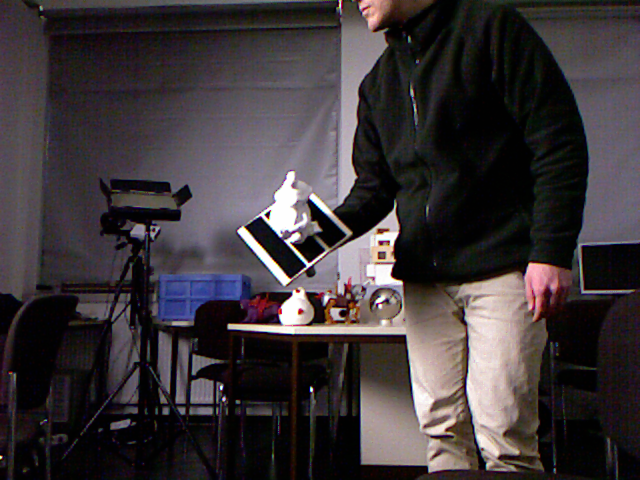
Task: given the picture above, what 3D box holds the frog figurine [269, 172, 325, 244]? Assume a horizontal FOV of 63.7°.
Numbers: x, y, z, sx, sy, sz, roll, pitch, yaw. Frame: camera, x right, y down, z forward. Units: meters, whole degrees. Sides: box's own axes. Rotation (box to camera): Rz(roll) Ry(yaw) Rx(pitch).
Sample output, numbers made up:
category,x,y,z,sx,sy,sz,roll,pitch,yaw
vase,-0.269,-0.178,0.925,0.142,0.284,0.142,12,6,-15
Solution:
category,x,y,z,sx,sy,sz,roll,pitch,yaw
frog figurine,-0.064,-0.070,1.171,0.123,0.140,0.156,-23,-31,-3
